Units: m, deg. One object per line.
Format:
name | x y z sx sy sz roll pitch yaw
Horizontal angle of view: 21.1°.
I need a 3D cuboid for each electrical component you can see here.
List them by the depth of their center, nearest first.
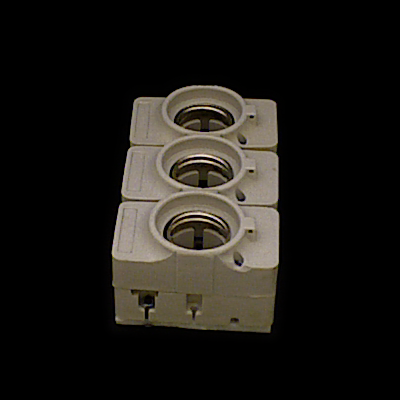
electrical component | 0.000 0.000 0.637 0.089 0.063 0.147 2 42 1
